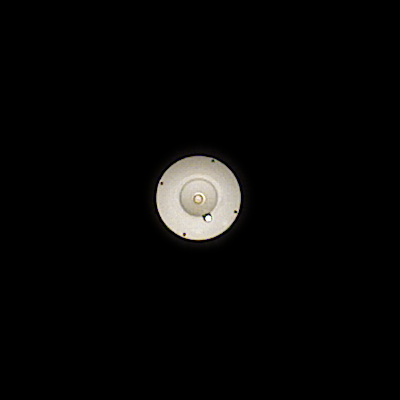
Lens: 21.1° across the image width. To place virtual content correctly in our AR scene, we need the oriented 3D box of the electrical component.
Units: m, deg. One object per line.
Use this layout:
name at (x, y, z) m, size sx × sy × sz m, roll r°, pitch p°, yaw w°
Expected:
electrical component at (0.000, 0.000, 0.634) m, size 0.048 × 0.048 × 0.062 m, roll 0°, pitch -5°, yaw 1°
